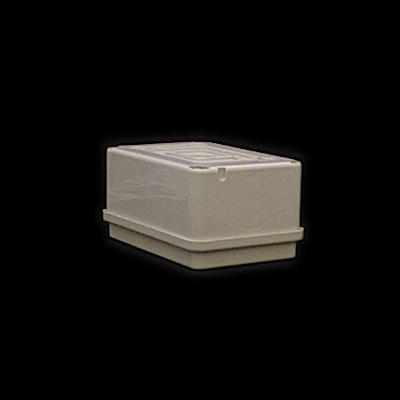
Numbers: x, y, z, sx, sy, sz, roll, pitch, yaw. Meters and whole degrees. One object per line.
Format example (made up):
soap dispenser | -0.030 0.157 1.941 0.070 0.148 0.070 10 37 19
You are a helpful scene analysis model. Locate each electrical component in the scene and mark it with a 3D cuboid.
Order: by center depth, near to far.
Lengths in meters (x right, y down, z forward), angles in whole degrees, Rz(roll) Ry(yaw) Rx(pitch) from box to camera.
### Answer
electrical component | 0.000 0.000 0.644 0.078 0.057 0.112 -6 12 -32
